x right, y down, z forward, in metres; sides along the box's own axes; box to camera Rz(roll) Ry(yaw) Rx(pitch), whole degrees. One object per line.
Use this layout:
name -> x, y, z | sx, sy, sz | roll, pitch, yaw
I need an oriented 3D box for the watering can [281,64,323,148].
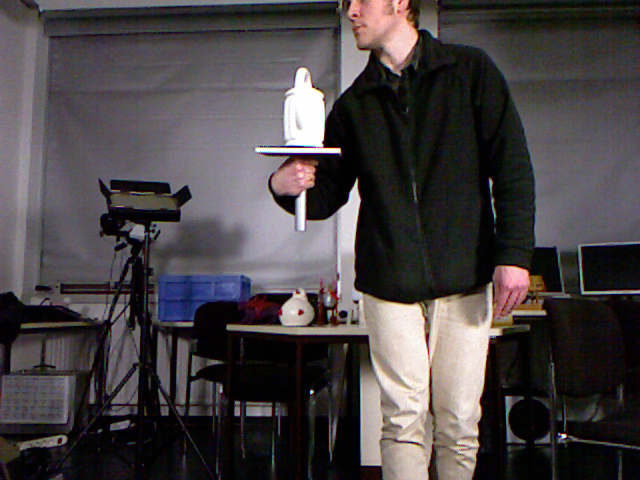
watering can -> -0.041, -0.340, 1.364 | 0.104, 0.223, 0.351 | 3, 8, 3
